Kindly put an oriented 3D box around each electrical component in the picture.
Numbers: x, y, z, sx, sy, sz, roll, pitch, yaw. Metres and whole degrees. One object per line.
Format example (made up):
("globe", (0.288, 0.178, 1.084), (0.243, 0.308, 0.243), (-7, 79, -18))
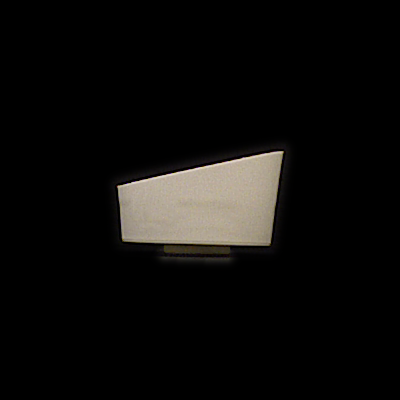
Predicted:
("electrical component", (0.000, 0.000, 0.650), (0.099, 0.064, 0.099), (2, -1, 0))
